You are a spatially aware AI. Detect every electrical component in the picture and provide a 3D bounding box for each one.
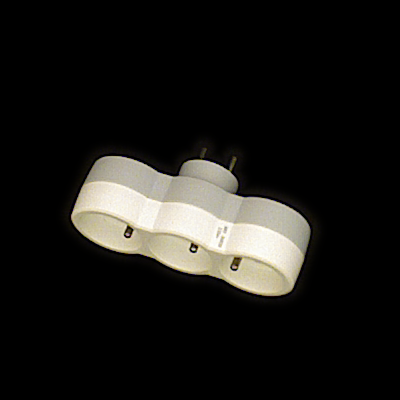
[{"bbox_3d":[0.000,0.000,0.639,0.138,0.074,0.052,17,-27,8],"label":"electrical component"}]
